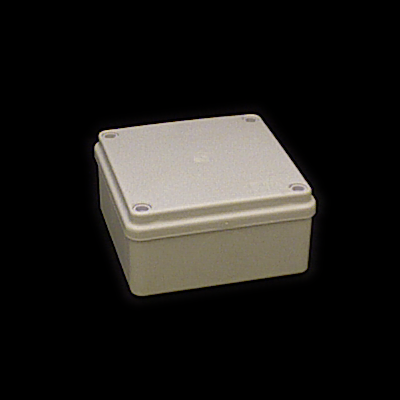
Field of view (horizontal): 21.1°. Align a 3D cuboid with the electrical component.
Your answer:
[{"bbox_3d":[0.000,0.000,0.636,0.109,0.057,0.107,-7,32,-13],"label":"electrical component"}]
